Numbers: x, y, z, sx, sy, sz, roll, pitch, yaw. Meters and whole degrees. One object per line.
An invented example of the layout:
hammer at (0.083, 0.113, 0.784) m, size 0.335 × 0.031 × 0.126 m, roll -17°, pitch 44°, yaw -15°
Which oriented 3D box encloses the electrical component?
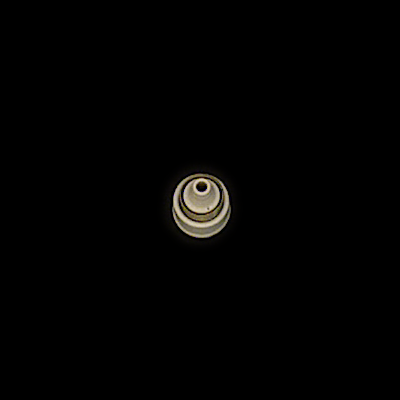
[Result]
electrical component at (0.000, 0.000, 0.637) m, size 0.035 × 0.035 × 0.061 m, roll 0°, pitch -15°, yaw 0°
